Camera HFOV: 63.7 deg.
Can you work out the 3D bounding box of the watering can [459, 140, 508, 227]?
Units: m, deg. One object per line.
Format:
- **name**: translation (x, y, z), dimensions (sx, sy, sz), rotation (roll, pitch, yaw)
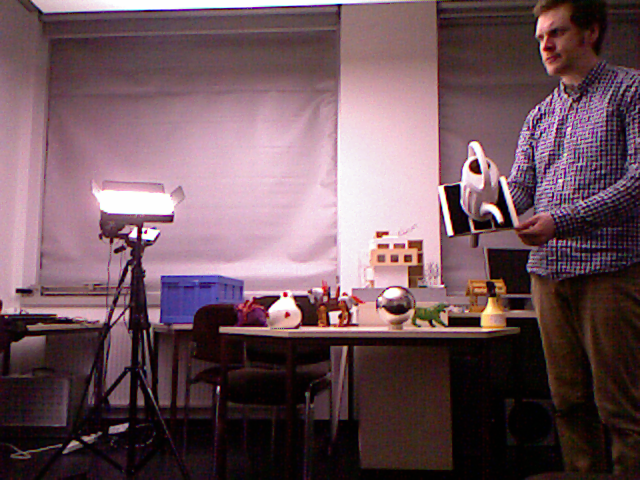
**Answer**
- **watering can**: translation (0.475, -0.131, 1.508), dimensions (0.104, 0.356, 0.219), rotation (-8, -37, 6)
